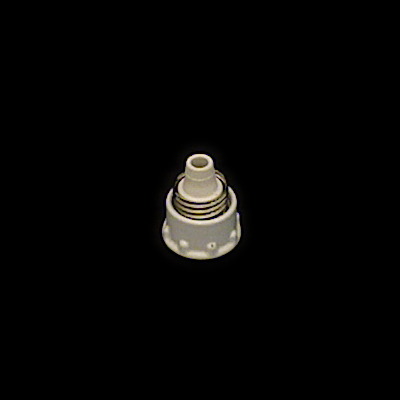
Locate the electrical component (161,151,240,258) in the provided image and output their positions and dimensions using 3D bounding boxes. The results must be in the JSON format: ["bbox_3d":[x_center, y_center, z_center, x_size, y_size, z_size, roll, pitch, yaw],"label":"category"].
[{"bbox_3d":[0.000,0.000,0.637,0.048,0.062,0.047,0,42,1],"label":"electrical component"}]
